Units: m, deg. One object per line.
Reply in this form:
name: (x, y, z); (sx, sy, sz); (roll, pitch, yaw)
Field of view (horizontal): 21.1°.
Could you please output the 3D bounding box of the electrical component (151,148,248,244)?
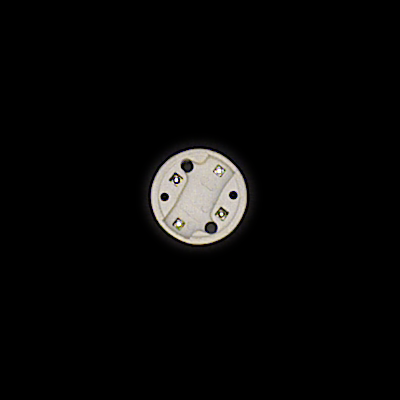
electrical component: (0.000, 0.000, 0.635); (0.055, 0.056, 0.047); (0, -7, 0)
